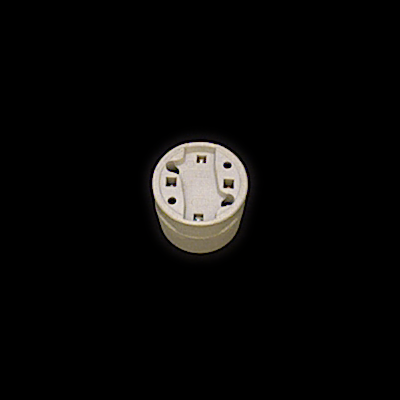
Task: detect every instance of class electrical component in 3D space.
[{"bbox_3d":[0.000,0.000,0.634,0.055,0.056,0.047,0,-27,-1],"label":"electrical component"}]
